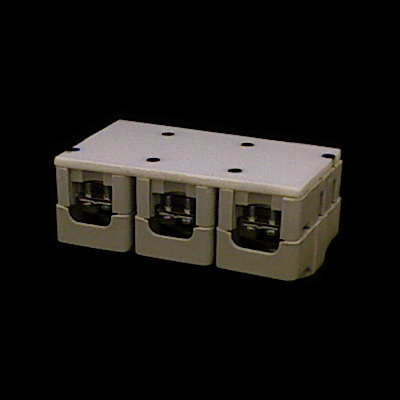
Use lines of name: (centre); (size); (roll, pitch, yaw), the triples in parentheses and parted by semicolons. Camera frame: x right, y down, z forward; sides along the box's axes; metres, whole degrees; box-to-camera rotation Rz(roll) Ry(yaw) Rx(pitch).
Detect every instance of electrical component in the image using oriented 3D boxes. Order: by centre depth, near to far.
electrical component: (0.000, 0.000, 0.646); (0.150, 0.063, 0.088); (9, 22, 20)
